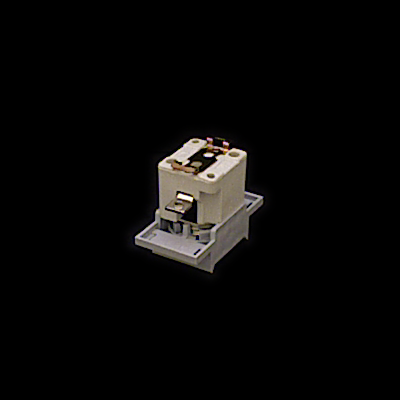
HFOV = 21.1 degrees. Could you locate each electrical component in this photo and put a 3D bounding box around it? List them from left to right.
[{"bbox_3d":[0.000,0.000,0.634,0.042,0.064,0.080,17,35,25],"label":"electrical component"}]
